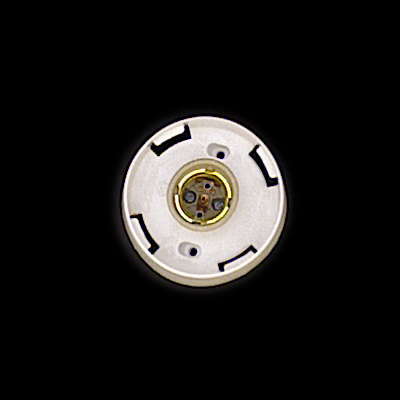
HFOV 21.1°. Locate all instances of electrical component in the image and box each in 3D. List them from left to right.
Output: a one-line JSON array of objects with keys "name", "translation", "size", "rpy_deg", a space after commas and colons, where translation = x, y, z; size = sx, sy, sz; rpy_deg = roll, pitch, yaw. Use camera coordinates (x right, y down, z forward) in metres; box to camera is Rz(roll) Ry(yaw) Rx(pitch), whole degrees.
[{"name": "electrical component", "translation": [0.000, 0.000, 0.625], "size": [0.099, 0.099, 0.064], "rpy_deg": [0, -7, 1]}]
